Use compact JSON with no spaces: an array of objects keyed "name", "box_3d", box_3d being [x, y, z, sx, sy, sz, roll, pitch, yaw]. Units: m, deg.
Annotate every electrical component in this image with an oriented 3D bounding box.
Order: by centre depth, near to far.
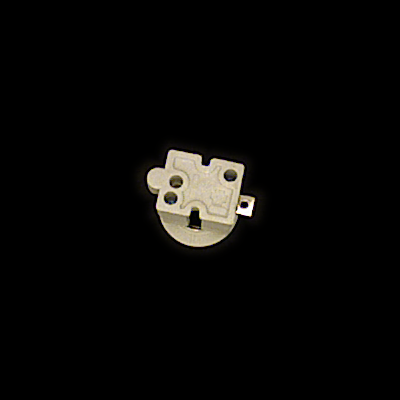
[{"name":"electrical component","box_3d":[0.000,0.000,0.637,0.066,0.049,0.055,12,-17,2]}]
